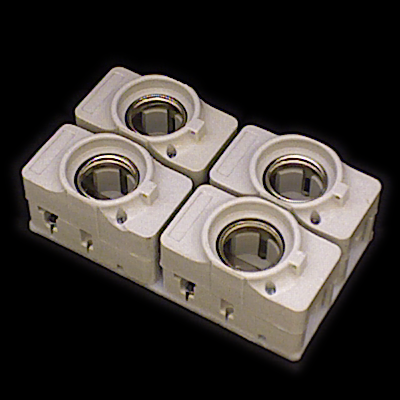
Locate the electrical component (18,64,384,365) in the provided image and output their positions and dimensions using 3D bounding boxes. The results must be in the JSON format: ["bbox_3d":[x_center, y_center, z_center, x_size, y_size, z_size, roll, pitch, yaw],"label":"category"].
[{"bbox_3d":[0.000,0.000,0.628,0.186,0.105,0.060,25,-34,17],"label":"electrical component"}]
